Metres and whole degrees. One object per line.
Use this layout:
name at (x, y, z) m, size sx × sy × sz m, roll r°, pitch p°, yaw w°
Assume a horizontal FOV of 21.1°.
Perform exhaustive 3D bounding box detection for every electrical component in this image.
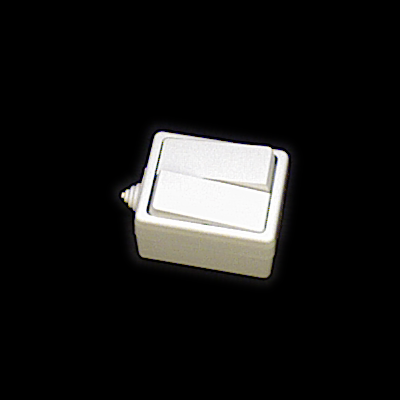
electrical component at (0.000, 0.000, 0.627) m, size 0.096 × 0.062 × 0.061 m, roll 10°, pitch -27°, yaw 5°
